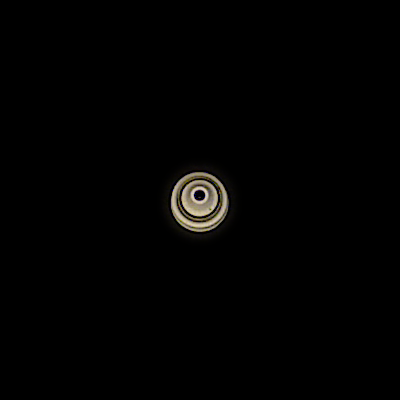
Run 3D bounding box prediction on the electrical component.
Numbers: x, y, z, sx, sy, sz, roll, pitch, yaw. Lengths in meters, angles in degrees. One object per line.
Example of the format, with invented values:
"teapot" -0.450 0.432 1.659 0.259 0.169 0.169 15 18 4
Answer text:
"electrical component" 0.000 0.000 0.637 0.035 0.035 0.061 0 -5 -1
